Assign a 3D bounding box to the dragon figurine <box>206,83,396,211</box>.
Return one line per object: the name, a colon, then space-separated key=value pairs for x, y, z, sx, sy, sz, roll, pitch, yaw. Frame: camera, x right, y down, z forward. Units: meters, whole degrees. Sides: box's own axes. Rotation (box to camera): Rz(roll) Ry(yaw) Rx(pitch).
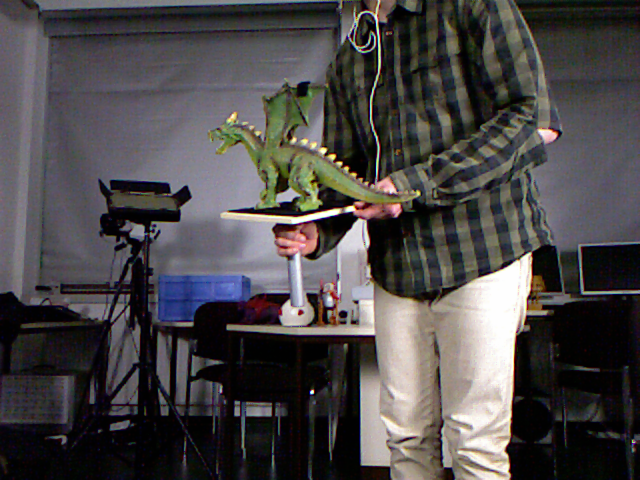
dragon figurine: x=-0.048 y=-0.189 z=1.030 sx=0.411 sy=0.241 sz=0.124 roll=2 pitch=14 yaw=25
